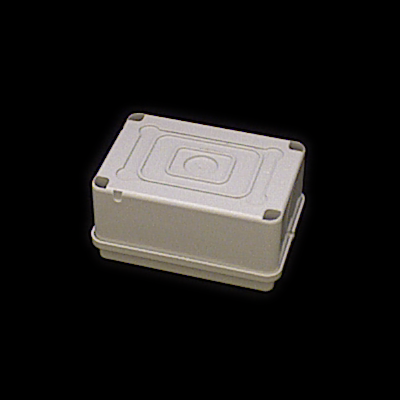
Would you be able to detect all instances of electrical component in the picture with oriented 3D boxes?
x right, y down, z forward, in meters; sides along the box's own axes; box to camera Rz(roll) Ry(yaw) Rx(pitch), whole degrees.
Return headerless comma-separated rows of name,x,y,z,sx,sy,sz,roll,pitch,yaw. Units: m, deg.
electrical component,0.000,0.000,0.632,0.113,0.057,0.077,12,43,11
